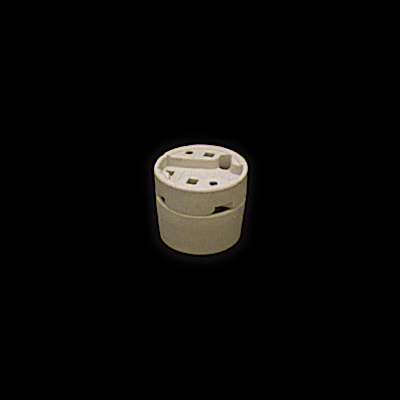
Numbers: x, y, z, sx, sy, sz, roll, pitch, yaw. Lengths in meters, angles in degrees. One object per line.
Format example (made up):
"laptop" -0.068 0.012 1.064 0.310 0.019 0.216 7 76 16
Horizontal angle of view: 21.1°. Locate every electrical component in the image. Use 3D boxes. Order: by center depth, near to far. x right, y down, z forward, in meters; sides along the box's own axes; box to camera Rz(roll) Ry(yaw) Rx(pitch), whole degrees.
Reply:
"electrical component" 0.000 0.000 0.638 0.055 0.047 0.055 1 31 0
